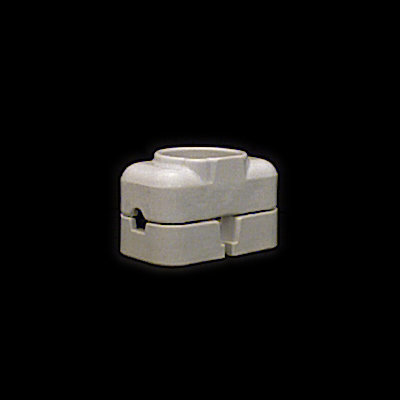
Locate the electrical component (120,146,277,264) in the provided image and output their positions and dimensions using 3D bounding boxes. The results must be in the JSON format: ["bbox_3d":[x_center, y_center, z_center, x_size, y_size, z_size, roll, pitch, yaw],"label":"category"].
[{"bbox_3d":[0.000,0.000,0.650,0.096,0.060,0.053,-9,15,-40],"label":"electrical component"}]
